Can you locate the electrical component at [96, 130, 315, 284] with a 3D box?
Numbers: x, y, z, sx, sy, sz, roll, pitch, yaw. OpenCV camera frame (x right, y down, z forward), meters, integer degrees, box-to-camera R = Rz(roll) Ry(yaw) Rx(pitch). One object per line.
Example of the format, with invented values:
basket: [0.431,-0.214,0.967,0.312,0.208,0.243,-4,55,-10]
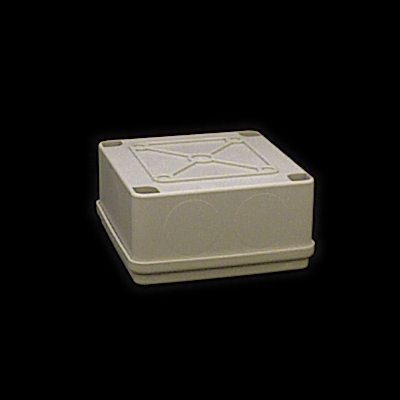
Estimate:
electrical component: [0.000,0.000,0.639,0.109,0.057,0.107,-5,21,-15]
